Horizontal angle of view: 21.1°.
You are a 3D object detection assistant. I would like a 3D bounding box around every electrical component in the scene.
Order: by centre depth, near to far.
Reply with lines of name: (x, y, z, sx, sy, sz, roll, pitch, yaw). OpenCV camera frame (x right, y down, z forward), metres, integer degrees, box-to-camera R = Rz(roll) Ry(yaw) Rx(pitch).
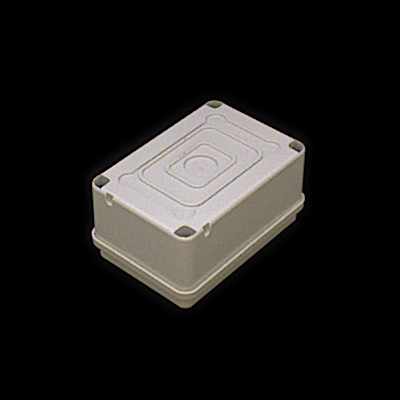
electrical component: (0.000, 0.000, 0.632, 0.077, 0.057, 0.113, 30, 49, 29)
